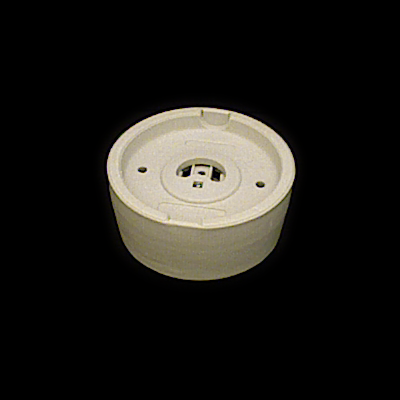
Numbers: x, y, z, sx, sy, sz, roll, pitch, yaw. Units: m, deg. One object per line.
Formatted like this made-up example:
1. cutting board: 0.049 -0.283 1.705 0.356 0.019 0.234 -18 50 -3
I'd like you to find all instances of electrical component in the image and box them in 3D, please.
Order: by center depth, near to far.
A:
1. electrical component: 0.000 0.000 0.635 0.108 0.061 0.107 1 42 0
